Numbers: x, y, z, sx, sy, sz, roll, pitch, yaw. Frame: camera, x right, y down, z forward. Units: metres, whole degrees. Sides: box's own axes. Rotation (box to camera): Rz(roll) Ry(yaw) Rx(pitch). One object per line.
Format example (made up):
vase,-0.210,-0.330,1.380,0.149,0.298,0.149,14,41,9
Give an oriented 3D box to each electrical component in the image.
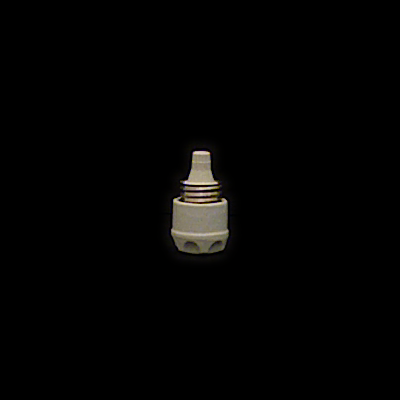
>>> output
electrical component,0.000,0.000,0.656,0.035,0.062,0.035,2,11,0
